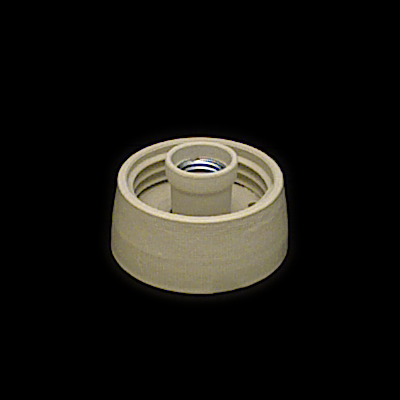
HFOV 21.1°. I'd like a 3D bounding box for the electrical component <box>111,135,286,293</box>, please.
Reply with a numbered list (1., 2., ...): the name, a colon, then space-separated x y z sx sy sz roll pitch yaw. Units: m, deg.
1. electrical component: 0.000 0.000 0.640 0.108 0.061 0.106 1 32 0
